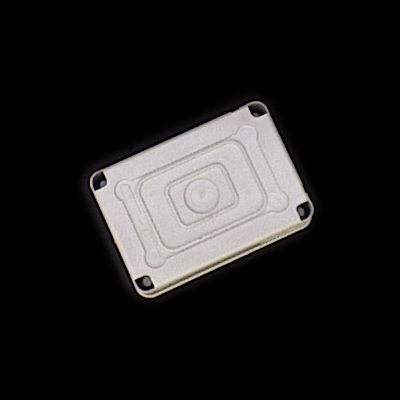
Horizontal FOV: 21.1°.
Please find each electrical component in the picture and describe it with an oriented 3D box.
[{"bbox_3d":[0.000,0.000,0.628,0.113,0.078,0.057,-24,-6,-2],"label":"electrical component"}]
